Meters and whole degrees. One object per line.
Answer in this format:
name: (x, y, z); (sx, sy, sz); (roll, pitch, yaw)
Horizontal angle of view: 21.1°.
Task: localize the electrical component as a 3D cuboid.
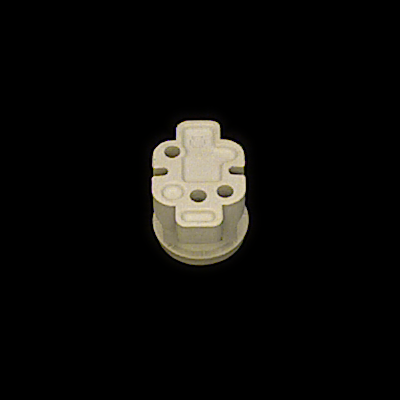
electrical component: (0.000, 0.000, 0.638); (0.058, 0.078, 0.057); (-2, -38, -1)
